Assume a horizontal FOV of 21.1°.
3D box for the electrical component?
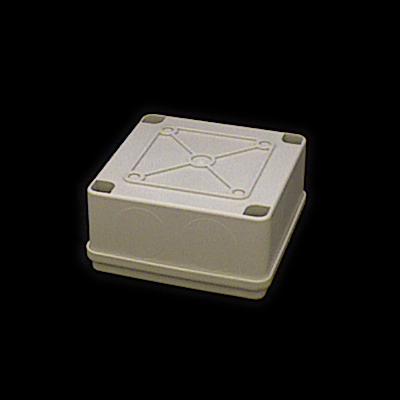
[{"bbox_3d":[0.000,0.000,0.636,0.108,0.057,0.107,9,32,14],"label":"electrical component"}]
